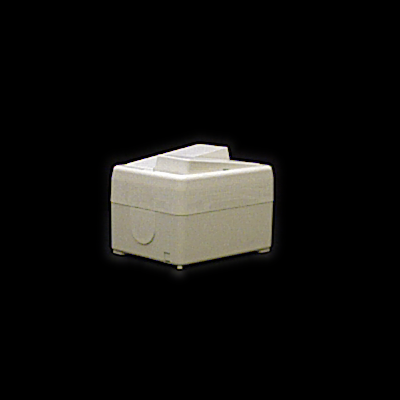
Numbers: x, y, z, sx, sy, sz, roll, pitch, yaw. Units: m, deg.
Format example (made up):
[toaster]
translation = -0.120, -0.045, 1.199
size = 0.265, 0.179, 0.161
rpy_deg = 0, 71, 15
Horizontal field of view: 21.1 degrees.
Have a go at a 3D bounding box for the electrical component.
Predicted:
[electrical component]
translation = 0.000, 0.000, 0.646
size = 0.096, 0.061, 0.061
rpy_deg = -9, 15, -44
